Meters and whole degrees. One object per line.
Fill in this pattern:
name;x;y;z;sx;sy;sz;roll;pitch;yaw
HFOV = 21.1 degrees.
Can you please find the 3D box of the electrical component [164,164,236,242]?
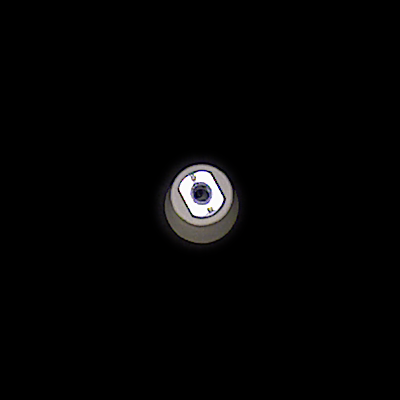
electrical component;0.000;0.000;0.626;0.044;0.044;0.065;0;-7;0
